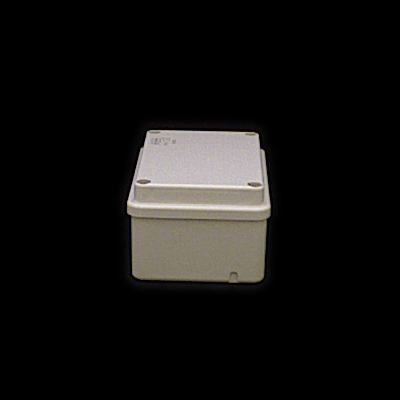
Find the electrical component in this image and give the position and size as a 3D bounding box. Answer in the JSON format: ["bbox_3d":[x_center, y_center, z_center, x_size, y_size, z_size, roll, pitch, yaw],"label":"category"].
[{"bbox_3d":[0.000,0.000,0.639,0.078,0.058,0.111,1,21,1],"label":"electrical component"}]
